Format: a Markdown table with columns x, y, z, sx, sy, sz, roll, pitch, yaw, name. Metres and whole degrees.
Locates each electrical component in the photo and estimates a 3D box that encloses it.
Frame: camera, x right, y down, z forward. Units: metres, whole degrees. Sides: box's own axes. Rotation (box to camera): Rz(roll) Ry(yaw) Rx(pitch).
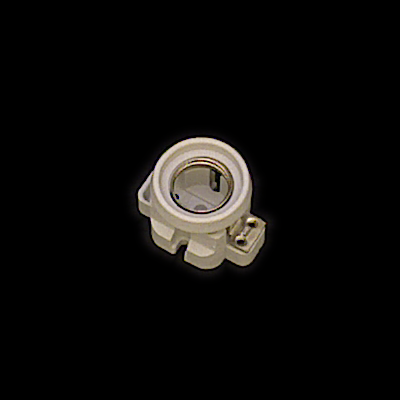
| x | y | z | sx | sy | sz | roll | pitch | yaw | name |
| --- | --- | --- | --- | --- | --- | --- | --- | --- | --- |
| 0.000 | 0.000 | 0.628 | 0.078 | 0.058 | 0.057 | 28 | -24 | 13 | electrical component |
